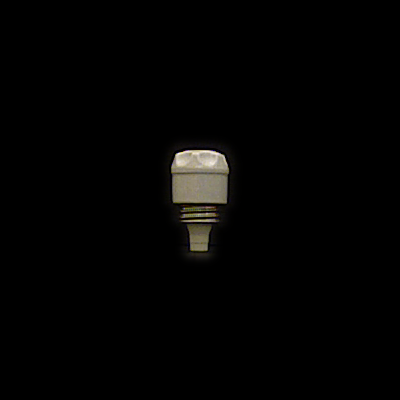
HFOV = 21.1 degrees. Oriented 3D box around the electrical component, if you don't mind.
[{"bbox_3d":[0.000,0.000,0.657,0.035,0.061,0.035,1,2,1],"label":"electrical component"}]
